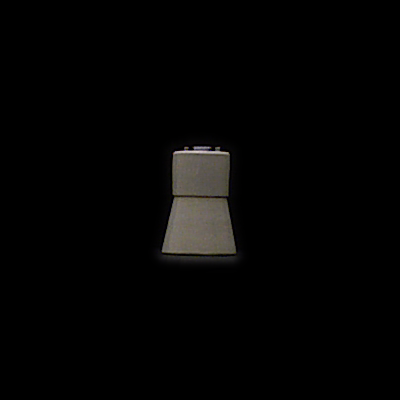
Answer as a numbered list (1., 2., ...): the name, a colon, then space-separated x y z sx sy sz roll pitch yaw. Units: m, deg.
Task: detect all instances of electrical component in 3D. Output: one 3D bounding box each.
1. electrical component: 0.000 0.000 0.648 0.044 0.065 0.044 1 2 0
